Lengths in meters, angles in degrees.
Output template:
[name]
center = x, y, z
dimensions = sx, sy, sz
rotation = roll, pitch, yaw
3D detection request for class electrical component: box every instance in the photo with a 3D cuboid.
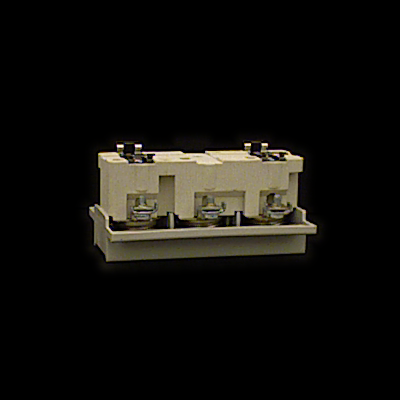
[electrical component]
center = 0.000, 0.000, 0.648
dimensions = 0.122, 0.063, 0.078
rotation = -2, 12, -15
